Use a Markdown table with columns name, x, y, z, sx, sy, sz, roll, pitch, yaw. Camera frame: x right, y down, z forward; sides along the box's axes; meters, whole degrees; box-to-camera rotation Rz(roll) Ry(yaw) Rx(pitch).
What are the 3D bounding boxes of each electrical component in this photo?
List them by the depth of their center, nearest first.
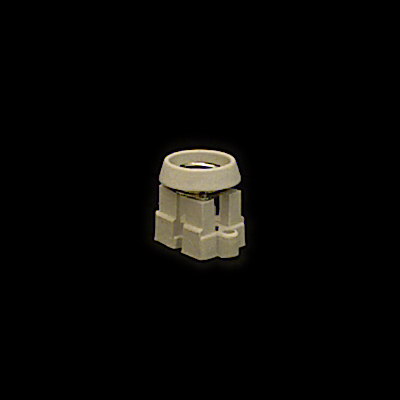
| name | x | y | z | sx | sy | sz | roll | pitch | yaw |
| --- | --- | --- | --- | --- | --- | --- | --- | --- | --- |
| electrical component | 0.000 | 0.000 | 0.646 | 0.049 | 0.056 | 0.065 | -17 | 28 | -42 |
